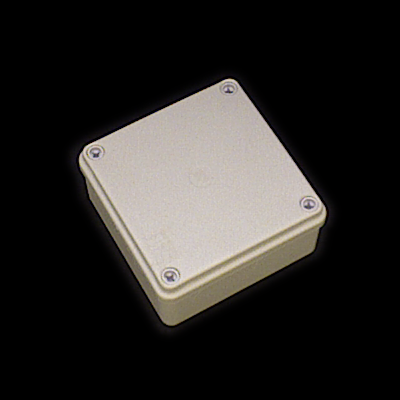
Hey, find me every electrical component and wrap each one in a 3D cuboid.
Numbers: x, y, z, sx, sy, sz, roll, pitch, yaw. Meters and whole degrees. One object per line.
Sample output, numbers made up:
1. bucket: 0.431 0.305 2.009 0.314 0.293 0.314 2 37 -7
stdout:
1. electrical component: 0.000 0.000 0.630 0.109 0.108 0.056 -27 -24 -14
